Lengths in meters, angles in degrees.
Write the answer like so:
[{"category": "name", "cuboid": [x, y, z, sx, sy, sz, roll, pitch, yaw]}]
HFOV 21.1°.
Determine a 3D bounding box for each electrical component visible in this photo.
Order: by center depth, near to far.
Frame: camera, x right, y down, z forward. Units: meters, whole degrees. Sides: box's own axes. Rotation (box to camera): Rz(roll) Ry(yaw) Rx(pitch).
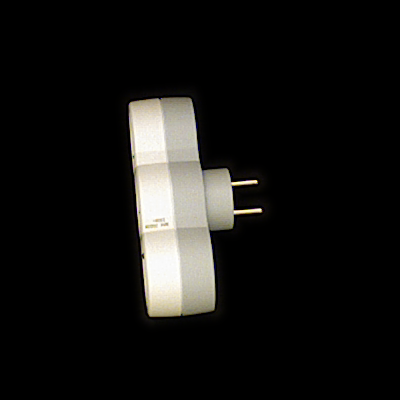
[{"category": "electrical component", "cuboid": [0.000, 0.000, 0.637, 0.074, 0.138, 0.052, -5, -27, -5]}]
